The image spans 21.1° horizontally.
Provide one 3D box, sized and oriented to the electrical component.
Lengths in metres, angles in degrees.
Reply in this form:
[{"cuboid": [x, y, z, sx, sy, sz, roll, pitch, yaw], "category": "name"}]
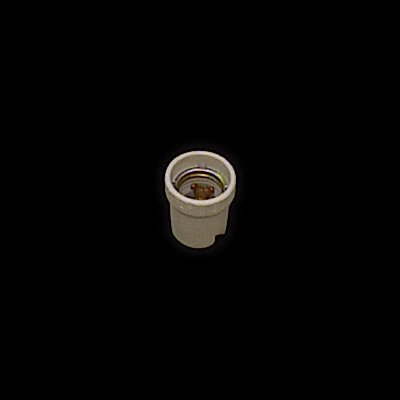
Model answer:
[{"cuboid": [0.000, 0.000, 0.630, 0.040, 0.040, 0.046, 0, -38, -1], "category": "electrical component"}]
